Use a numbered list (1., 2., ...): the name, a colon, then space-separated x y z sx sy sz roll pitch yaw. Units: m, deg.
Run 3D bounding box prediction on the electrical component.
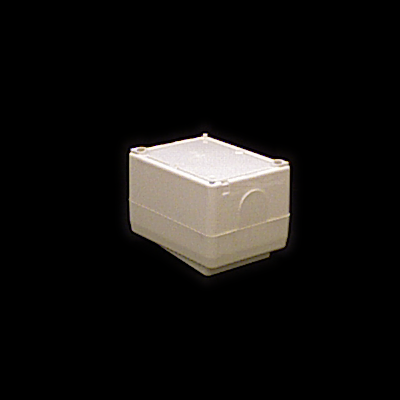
1. electrical component: 0.000 0.000 0.642 0.061 0.061 0.095 -15 26 -37
